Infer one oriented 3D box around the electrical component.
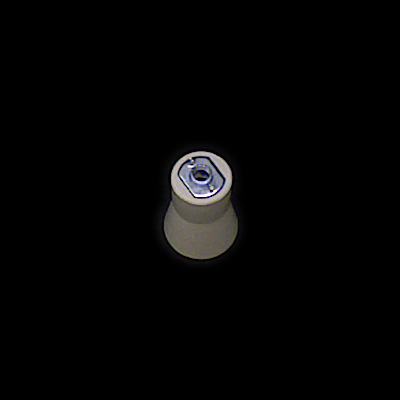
[{"bbox_3d":[0.000,0.000,0.625,0.044,0.044,0.065,0,-28,-1],"label":"electrical component"}]
